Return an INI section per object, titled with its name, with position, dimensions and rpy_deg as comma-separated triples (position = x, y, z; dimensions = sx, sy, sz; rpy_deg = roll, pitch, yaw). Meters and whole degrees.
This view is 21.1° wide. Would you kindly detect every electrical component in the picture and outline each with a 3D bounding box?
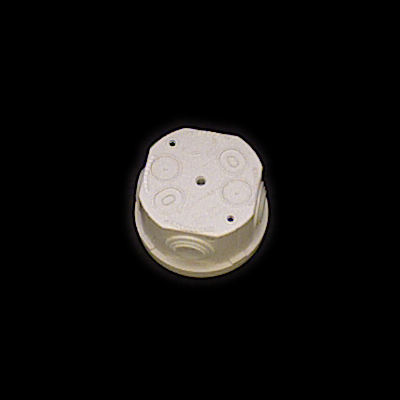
[electrical component]
position = 0.000, 0.000, 0.632
dimensions = 0.080, 0.080, 0.050
rpy_deg = 0, -28, 0
